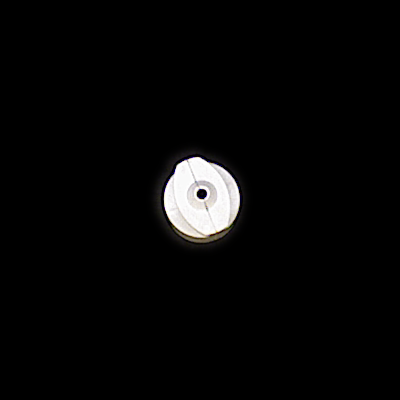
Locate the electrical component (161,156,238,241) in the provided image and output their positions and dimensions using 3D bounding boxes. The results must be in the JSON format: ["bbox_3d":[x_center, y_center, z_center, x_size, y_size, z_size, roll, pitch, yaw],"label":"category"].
[{"bbox_3d":[0.000,0.000,0.616,0.043,0.043,0.080,0,-6,1],"label":"electrical component"}]
